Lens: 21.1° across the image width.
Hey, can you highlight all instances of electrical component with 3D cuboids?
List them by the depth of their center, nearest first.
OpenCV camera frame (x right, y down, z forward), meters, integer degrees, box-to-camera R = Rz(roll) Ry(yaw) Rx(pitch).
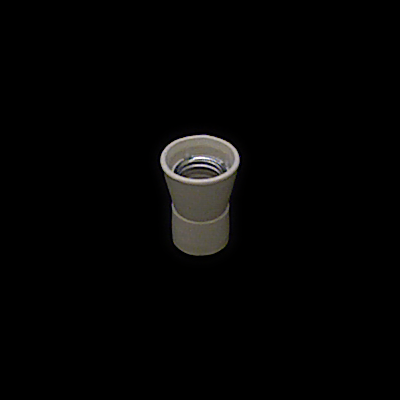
[{"bbox_3d":[0.000,0.000,0.630,0.044,0.066,0.044,0,41,0],"label":"electrical component"}]
